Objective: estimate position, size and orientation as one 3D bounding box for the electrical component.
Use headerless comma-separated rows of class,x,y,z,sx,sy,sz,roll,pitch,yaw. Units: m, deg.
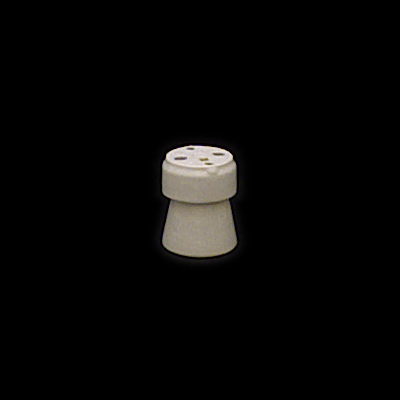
electrical component,0.000,0.000,0.639,0.045,0.056,0.044,1,21,0
